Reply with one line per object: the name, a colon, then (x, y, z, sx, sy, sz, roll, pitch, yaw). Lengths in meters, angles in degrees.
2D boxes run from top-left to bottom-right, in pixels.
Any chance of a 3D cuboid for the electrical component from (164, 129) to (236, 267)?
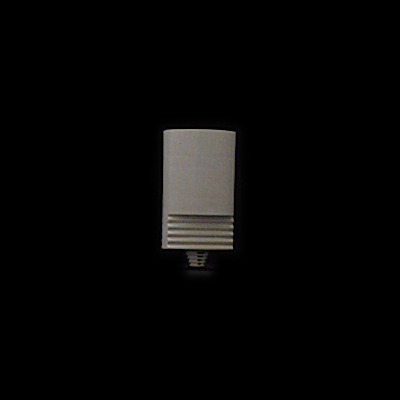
electrical component: (0.000, 0.000, 0.647, 0.043, 0.081, 0.043, 0, 1, 0)
